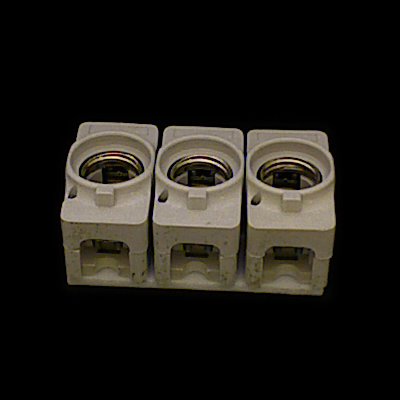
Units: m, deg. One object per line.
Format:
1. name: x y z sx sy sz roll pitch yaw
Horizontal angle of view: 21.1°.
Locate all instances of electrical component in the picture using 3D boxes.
1. electrical component: 0.000 0.000 0.635 0.150 0.063 0.088 2 42 2
